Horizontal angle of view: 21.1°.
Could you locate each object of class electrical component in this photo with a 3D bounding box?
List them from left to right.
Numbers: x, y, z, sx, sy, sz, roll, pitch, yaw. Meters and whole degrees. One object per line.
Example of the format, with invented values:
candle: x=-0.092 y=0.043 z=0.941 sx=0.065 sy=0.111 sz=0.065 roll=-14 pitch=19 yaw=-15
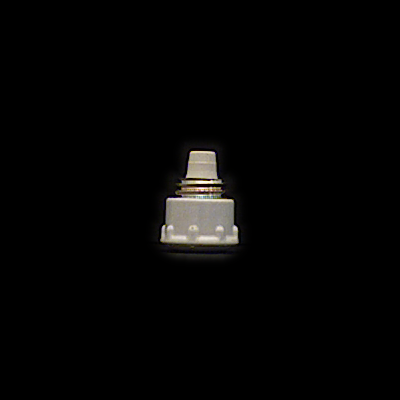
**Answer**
electrical component: x=0.000 y=0.000 z=0.658 sx=0.048 sy=0.062 sz=0.048 roll=2 pitch=1 yaw=1
